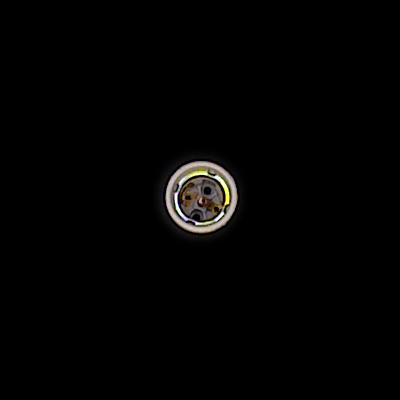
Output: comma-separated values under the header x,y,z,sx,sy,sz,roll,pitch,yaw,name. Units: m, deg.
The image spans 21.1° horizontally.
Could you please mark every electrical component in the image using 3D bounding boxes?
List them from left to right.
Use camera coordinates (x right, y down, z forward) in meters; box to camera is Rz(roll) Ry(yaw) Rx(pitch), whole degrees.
x,y,z,sx,sy,sz,roll,pitch,yaw,name
0.000,0.000,0.628,0.040,0.040,0.046,0,-7,0,electrical component
